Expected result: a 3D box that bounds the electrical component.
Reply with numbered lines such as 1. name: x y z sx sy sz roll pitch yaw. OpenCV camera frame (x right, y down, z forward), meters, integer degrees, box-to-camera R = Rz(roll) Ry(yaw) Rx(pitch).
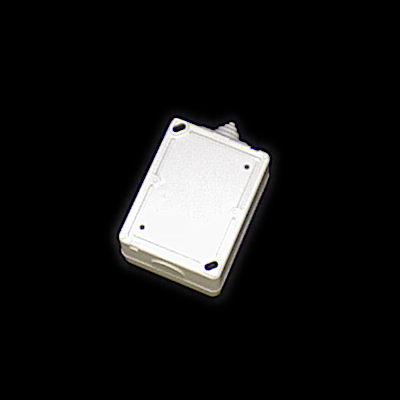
1. electrical component: 0.000 0.000 0.628 0.062 0.096 0.061 22 -16 7
